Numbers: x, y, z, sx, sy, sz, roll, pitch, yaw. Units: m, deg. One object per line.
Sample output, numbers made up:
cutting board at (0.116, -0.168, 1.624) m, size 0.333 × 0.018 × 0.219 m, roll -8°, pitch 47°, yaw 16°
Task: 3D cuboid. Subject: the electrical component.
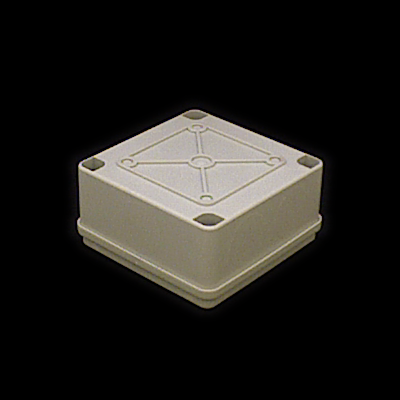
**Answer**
electrical component at (0.000, 0.000, 0.636) m, size 0.108 × 0.057 × 0.108 m, roll 26°, pitch 39°, yaw 33°
